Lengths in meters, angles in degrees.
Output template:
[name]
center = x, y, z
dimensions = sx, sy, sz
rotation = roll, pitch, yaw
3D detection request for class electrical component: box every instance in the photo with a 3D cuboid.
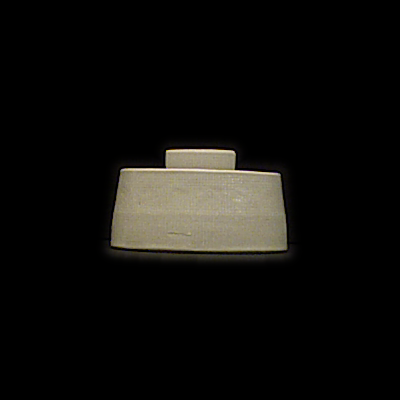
[electrical component]
center = 0.000, 0.000, 0.658
dimensions = 0.108, 0.060, 0.108
rotation = 1, 1, 1
